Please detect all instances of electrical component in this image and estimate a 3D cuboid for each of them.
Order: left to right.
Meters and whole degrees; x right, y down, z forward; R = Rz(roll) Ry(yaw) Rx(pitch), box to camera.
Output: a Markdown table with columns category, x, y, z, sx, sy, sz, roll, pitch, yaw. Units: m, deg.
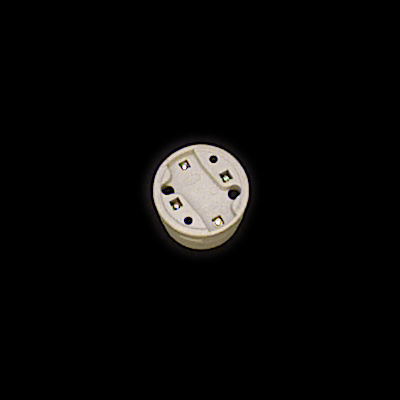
| category | x | y | z | sx | sy | sz | roll | pitch | yaw |
| --- | --- | --- | --- | --- | --- | --- | --- | --- | --- |
| electrical component | 0.000 | 0.000 | 0.634 | 0.055 | 0.056 | 0.047 | 0 | -17 | 1 |
